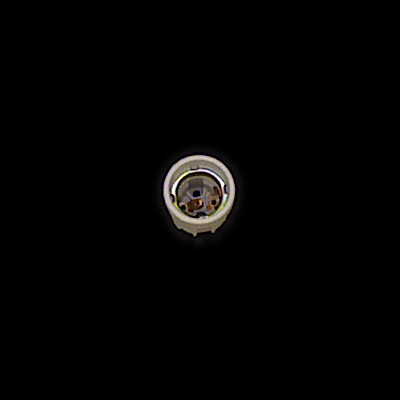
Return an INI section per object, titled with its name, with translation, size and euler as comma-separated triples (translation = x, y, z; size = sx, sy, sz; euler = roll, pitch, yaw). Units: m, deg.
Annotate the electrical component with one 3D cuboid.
[electrical component]
translation = 0.000, 0.000, 0.626
size = 0.040, 0.040, 0.046
euler = 0, -17, 0
